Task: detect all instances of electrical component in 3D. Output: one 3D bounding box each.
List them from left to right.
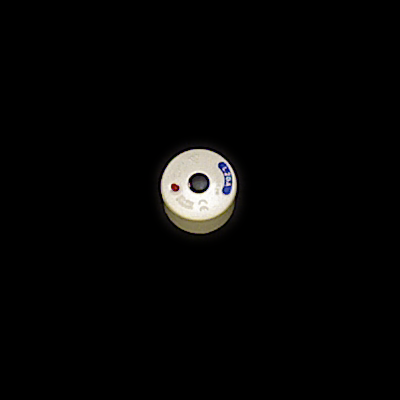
[{"bbox_3d":[0.000,0.000,0.617,0.040,0.040,0.078,0,-16,1],"label":"electrical component"}]
